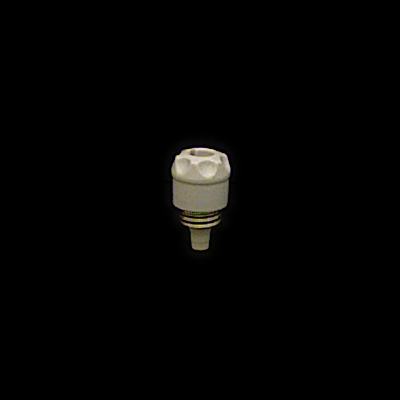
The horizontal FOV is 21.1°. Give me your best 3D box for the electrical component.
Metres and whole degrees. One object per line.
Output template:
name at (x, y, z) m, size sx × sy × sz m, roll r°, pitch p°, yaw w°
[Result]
electrical component at (0.000, 0.000, 0.648) m, size 0.035 × 0.062 × 0.034 m, roll 1°, pitch 22°, yaw 0°
